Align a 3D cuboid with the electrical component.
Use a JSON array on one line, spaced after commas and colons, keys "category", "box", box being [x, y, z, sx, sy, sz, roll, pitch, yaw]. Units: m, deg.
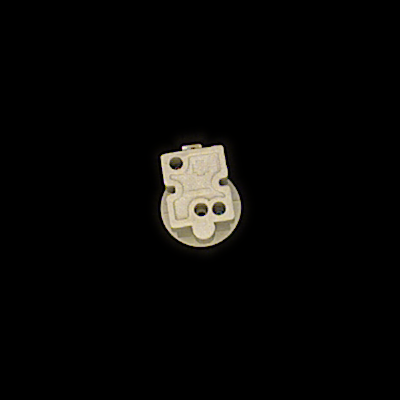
[{"category": "electrical component", "box": [0.000, 0.000, 0.637, 0.048, 0.066, 0.055, -8, -17, -1]}]
